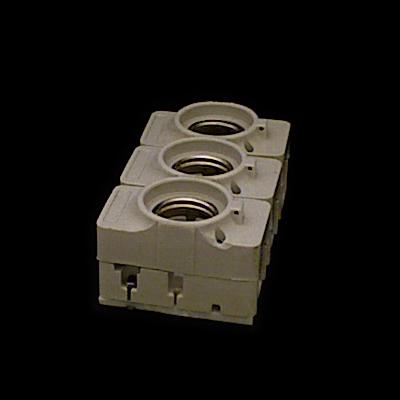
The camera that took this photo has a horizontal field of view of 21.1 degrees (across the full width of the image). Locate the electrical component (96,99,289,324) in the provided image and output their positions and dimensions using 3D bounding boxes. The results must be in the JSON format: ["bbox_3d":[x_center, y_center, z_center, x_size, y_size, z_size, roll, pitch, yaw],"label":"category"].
[{"bbox_3d":[0.000,0.000,0.641,0.089,0.063,0.147,6,32,8],"label":"electrical component"}]
